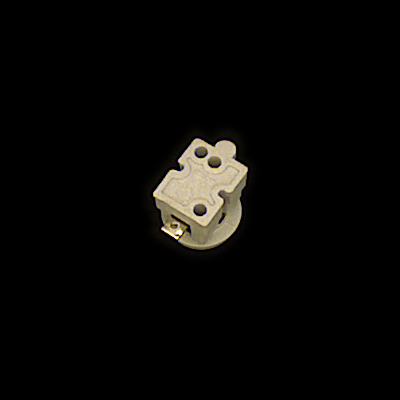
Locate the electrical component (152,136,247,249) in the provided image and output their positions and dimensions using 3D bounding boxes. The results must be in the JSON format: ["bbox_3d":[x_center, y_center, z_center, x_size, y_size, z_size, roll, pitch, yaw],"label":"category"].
[{"bbox_3d":[0.000,0.000,0.638,0.048,0.067,0.055,32,-21,14],"label":"electrical component"}]
